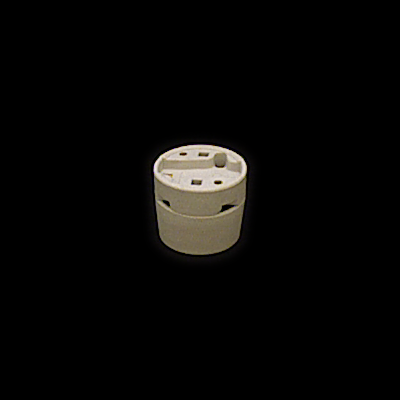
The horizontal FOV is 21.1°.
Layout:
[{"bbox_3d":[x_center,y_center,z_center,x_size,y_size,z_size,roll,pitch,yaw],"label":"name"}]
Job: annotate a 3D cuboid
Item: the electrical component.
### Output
[{"bbox_3d":[0.000,0.000,0.638,0.055,0.047,0.055,1,31,0],"label":"electrical component"}]
